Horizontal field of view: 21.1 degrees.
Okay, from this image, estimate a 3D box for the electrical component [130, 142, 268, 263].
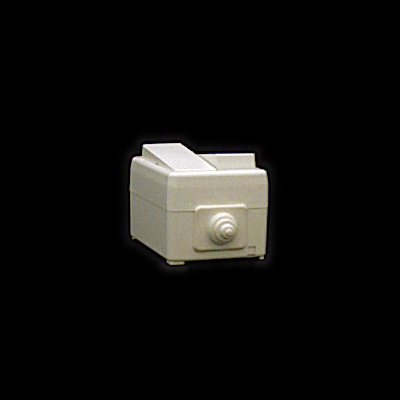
[{"bbox_3d":[0.000,0.000,0.642,0.062,0.061,0.095,-3,11,-20],"label":"electrical component"}]
